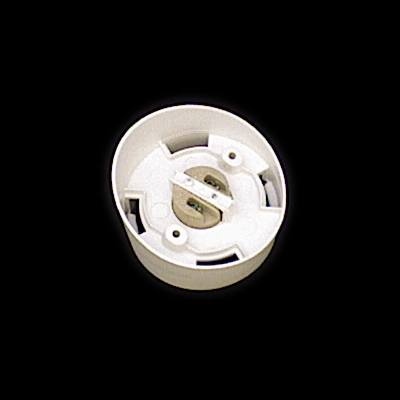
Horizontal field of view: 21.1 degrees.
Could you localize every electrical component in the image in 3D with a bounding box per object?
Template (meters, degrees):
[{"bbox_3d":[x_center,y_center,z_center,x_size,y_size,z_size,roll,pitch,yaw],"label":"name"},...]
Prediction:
[{"bbox_3d":[0.000,0.000,0.624,0.099,0.099,0.064,0,-27,1],"label":"electrical component"}]
